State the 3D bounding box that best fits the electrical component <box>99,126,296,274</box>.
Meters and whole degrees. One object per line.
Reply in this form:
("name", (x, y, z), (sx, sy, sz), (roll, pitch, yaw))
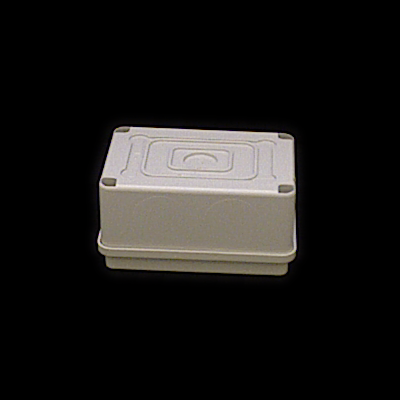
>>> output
("electrical component", (0.000, 0.000, 0.635), (0.113, 0.058, 0.077), (2, 31, 2))
